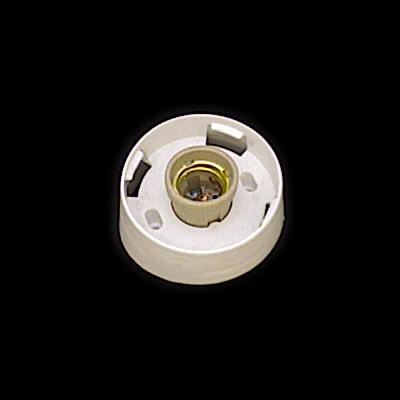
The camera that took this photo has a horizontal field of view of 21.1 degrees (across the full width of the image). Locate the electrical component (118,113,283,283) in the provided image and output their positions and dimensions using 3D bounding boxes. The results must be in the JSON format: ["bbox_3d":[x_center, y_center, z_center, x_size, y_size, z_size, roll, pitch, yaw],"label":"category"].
[{"bbox_3d":[0.000,0.000,0.625,0.099,0.099,0.064,0,-28,0],"label":"electrical component"}]
